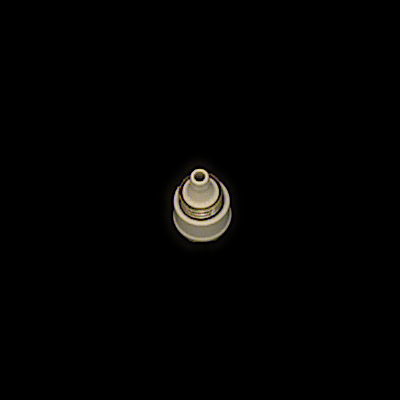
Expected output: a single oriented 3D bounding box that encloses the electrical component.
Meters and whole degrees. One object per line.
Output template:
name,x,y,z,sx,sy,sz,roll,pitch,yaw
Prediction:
electrical component,0.000,0.000,0.637,0.035,0.035,0.061,0,-27,2
